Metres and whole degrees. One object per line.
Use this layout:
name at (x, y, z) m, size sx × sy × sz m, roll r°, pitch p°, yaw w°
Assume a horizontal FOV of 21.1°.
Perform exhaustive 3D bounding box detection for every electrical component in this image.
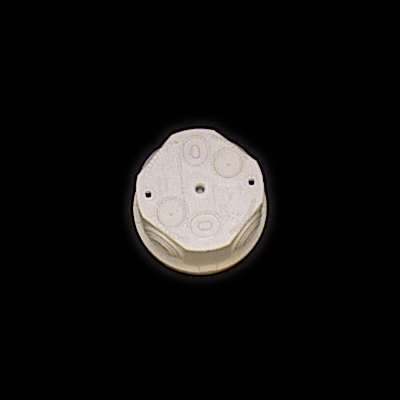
electrical component at (0.000, 0.000, 0.632) m, size 0.080 × 0.080 × 0.050 m, roll 0°, pitch -17°, yaw -1°
